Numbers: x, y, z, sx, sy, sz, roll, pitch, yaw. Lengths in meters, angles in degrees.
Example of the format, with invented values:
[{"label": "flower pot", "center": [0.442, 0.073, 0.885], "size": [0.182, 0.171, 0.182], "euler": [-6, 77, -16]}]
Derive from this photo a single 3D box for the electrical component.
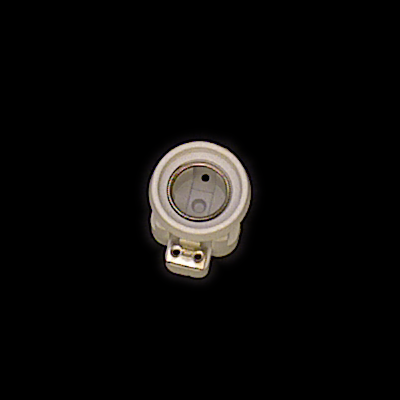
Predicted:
[{"label": "electrical component", "center": [0.000, 0.000, 0.628], "size": [0.058, 0.079, 0.056], "euler": [12, -16, 3]}]
